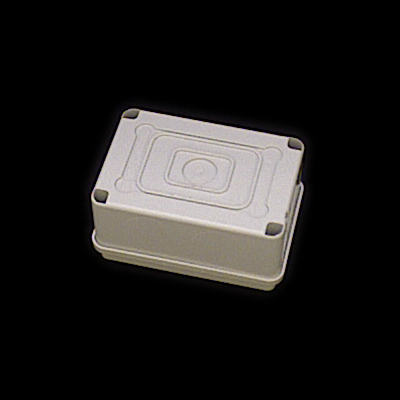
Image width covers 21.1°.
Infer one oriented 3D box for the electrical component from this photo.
[{"bbox_3d":[0.000,0.000,0.629,0.113,0.078,0.057,11,-37,8],"label":"electrical component"}]
